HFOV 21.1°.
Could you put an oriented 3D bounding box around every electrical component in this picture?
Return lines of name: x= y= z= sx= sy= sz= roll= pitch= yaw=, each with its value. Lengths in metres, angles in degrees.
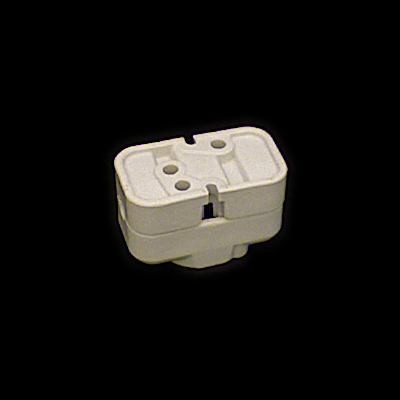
electrical component: x=0.000 y=0.000 z=0.637 sx=0.095 sy=0.060 sz=0.053 roll=-11 pitch=44 yaw=-13
